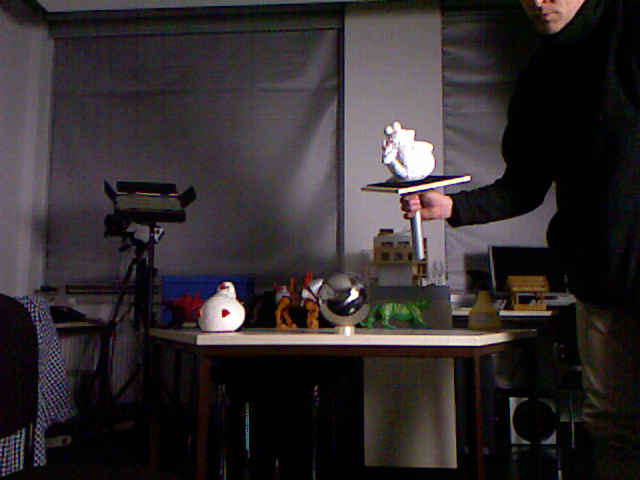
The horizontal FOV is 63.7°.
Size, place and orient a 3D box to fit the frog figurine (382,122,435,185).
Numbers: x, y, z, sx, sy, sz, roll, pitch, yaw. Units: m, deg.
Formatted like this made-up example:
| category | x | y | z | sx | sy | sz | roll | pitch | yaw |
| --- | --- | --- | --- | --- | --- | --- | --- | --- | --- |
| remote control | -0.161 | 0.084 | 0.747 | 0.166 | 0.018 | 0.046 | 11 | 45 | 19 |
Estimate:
| category | x | y | z | sx | sy | sz | roll | pitch | yaw |
| --- | --- | --- | --- | --- | --- | --- | --- | --- | --- |
| frog figurine | 0.228 | -0.229 | 1.347 | 0.138 | 0.158 | 0.124 | -10 | 16 | 1 |
